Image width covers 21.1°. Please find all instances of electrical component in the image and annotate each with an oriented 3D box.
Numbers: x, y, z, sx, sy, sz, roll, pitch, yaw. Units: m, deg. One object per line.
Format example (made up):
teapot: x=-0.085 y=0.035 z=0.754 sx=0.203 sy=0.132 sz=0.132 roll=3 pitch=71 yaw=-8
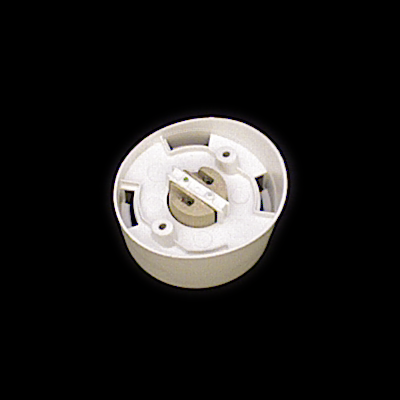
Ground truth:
electrical component: x=0.000 y=0.000 z=0.624 sx=0.099 sy=0.099 sz=0.064 roll=0 pitch=-27 yaw=-1
